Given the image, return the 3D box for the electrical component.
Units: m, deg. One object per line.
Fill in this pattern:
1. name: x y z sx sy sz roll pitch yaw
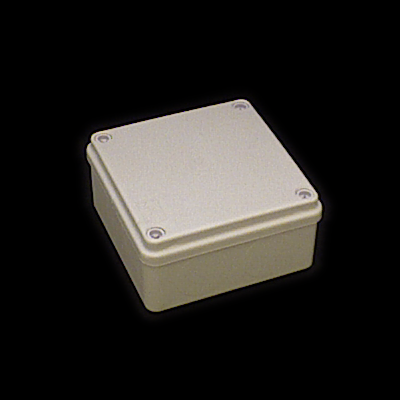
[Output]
1. electrical component: 0.000 0.000 0.634 0.109 0.057 0.107 -15 44 -17
